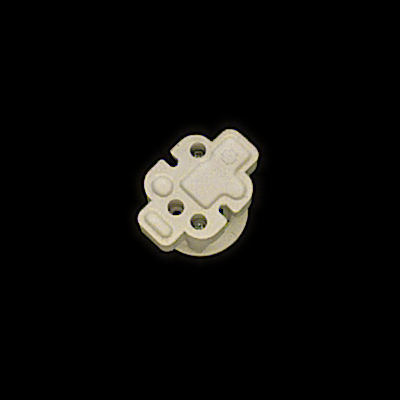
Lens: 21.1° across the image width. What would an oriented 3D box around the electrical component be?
[{"bbox_3d":[0.000,0.000,0.636,0.058,0.079,0.056,42,-13,12],"label":"electrical component"}]
